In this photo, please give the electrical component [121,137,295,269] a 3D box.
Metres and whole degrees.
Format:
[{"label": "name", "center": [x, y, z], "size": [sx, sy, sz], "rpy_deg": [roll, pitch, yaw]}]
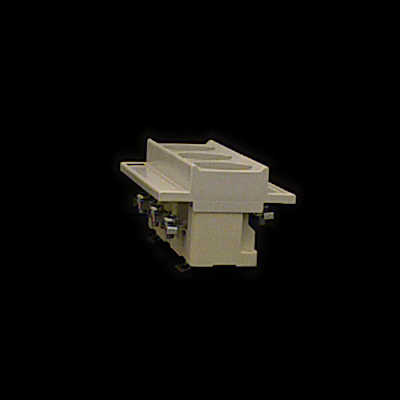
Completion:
[{"label": "electrical component", "center": [0.000, 0.000, 0.658], "size": [0.079, 0.063, 0.120], "rpy_deg": [0, 11, -14]}]
